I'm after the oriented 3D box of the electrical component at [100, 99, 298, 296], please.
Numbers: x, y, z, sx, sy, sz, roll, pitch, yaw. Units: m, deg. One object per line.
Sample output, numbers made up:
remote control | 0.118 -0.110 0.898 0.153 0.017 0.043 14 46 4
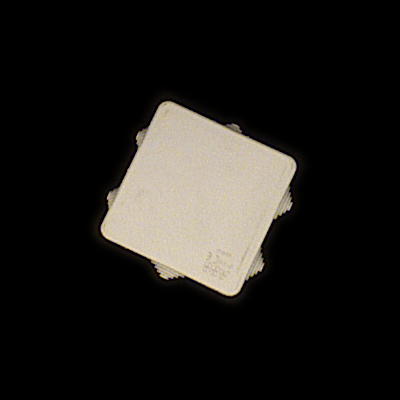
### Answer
electrical component | 0.000 0.000 0.642 0.100 0.100 0.048 25 -6 2
